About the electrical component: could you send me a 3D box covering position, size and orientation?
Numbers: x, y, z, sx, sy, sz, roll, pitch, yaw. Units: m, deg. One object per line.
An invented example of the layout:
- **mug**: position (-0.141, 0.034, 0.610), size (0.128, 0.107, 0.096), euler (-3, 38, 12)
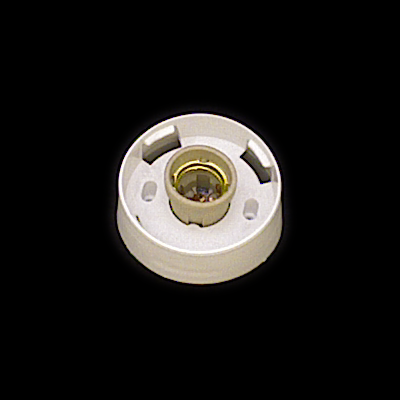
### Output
- **electrical component**: position (0.000, 0.000, 0.625), size (0.099, 0.099, 0.064), euler (0, -28, 0)
